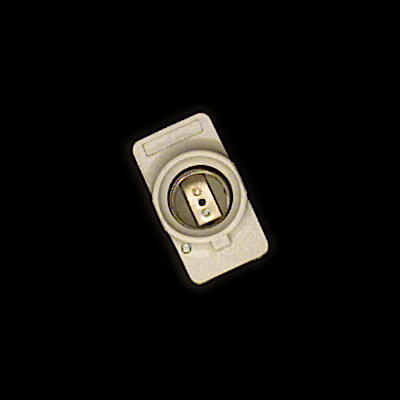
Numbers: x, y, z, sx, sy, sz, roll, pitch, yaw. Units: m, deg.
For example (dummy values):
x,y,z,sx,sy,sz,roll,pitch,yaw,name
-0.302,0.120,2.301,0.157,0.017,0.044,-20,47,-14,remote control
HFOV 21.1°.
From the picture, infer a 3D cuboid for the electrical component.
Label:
x,y,z,sx,sy,sz,roll,pitch,yaw,name
0.000,0.000,0.637,0.050,0.089,0.055,-25,-6,-1,electrical component
